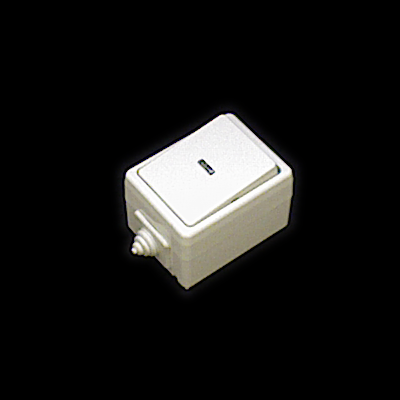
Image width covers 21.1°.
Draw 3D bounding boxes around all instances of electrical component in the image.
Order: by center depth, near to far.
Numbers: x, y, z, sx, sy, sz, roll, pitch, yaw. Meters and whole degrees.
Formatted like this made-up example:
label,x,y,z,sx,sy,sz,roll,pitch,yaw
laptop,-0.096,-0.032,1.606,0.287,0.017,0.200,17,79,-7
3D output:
label,x,y,z,sx,sy,sz,roll,pitch,yaw
electrical component,0.000,0.000,0.627,0.096,0.061,0.061,-31,-31,-22
